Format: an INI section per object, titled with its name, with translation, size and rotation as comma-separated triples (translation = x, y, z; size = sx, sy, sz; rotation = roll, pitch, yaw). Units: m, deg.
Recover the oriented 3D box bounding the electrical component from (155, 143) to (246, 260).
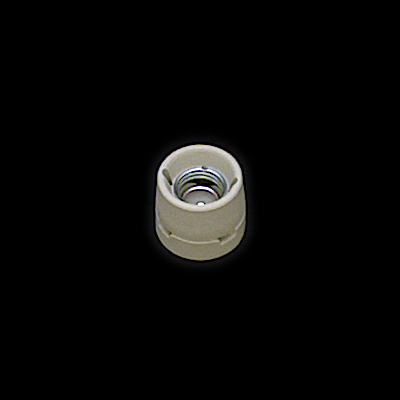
[electrical component]
translation = 0.000, 0.000, 0.634
size = 0.055, 0.055, 0.047
rotation = 0, -38, 1
